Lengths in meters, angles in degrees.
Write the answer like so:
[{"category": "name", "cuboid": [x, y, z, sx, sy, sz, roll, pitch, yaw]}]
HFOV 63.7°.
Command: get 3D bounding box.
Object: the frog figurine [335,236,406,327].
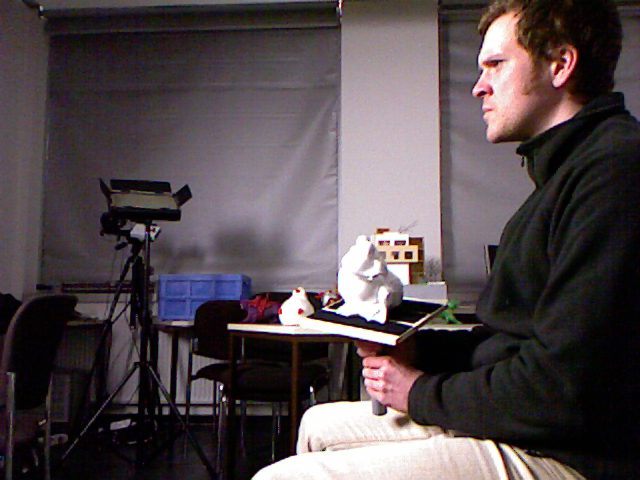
[{"category": "frog figurine", "cuboid": [0.089, 0.064, 0.930, 0.124, 0.158, 0.138, -13, 17, -35]}]
